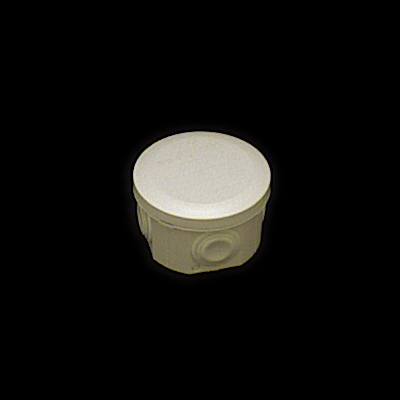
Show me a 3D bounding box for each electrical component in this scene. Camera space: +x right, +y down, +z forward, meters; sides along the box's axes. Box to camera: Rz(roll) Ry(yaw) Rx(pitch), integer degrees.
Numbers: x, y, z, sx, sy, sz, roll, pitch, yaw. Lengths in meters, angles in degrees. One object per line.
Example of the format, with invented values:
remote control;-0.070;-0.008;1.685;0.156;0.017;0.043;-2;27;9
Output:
electrical component;0.000;0.000;0.634;0.080;0.051;0.079;1;42;0
